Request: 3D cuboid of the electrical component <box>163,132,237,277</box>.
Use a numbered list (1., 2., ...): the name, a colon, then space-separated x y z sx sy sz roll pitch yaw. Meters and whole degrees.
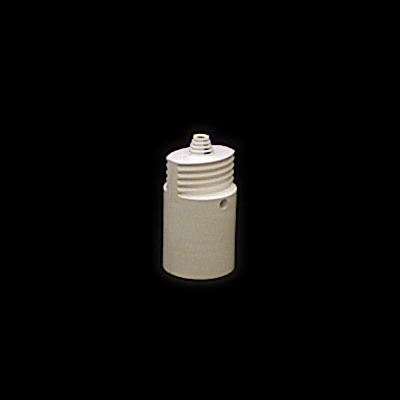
1. electrical component: 0.000 0.000 0.634 0.043 0.082 0.042 1 21 0
